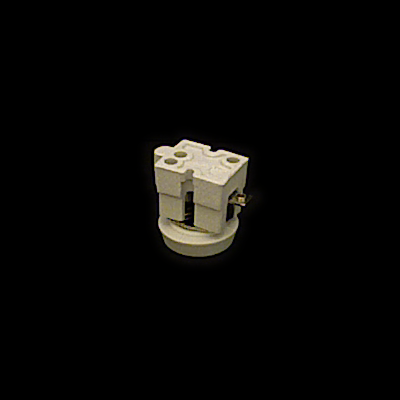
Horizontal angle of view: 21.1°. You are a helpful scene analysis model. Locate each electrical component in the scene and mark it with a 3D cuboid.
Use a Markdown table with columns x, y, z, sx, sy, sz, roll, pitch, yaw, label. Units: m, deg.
| x | y | z | sx | sy | sz | roll | pitch | yaw | label |
| --- | --- | --- | --- | --- | --- | --- | --- | --- | --- |
| 0.000 | 0.000 | 0.643 | 0.066 | 0.056 | 0.048 | 16 | 34 | 21 | electrical component |
